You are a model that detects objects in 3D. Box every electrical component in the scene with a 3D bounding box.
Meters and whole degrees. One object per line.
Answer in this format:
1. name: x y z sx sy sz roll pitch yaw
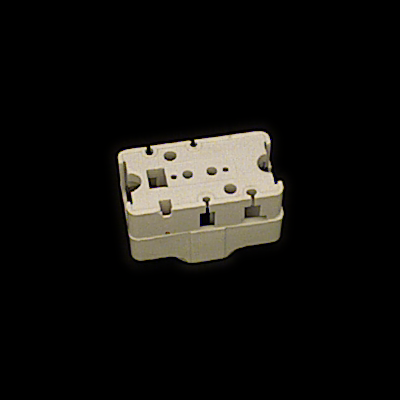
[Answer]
1. electrical component: 0.000 0.000 0.637 0.090 0.050 0.056 -8 -36 -6
